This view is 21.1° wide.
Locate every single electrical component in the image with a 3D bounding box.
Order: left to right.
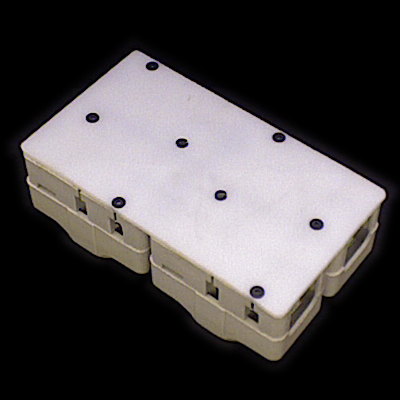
[{"bbox_3d":[0.000,0.000,0.627,0.185,0.105,0.060,32,-32,22],"label":"electrical component"}]
